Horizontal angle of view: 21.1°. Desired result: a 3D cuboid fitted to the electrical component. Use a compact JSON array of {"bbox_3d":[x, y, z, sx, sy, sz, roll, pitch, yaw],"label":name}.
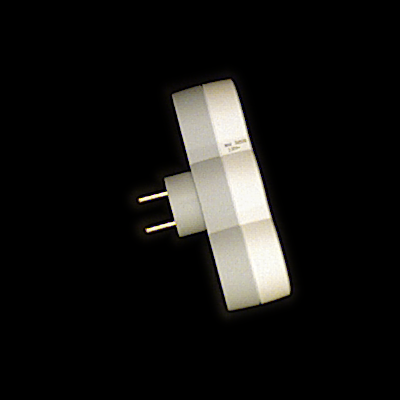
[{"bbox_3d":[0.000,0.000,0.638,0.074,0.138,0.052,-14,-16,-2],"label":"electrical component"}]
